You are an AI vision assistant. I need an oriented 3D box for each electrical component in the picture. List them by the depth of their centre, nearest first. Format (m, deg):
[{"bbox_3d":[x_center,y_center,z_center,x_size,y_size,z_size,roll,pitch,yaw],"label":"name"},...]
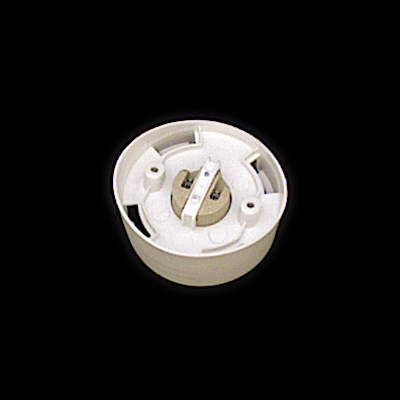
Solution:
[{"bbox_3d":[0.000,0.000,0.623,0.099,0.099,0.064,0,-27,0],"label":"electrical component"}]
